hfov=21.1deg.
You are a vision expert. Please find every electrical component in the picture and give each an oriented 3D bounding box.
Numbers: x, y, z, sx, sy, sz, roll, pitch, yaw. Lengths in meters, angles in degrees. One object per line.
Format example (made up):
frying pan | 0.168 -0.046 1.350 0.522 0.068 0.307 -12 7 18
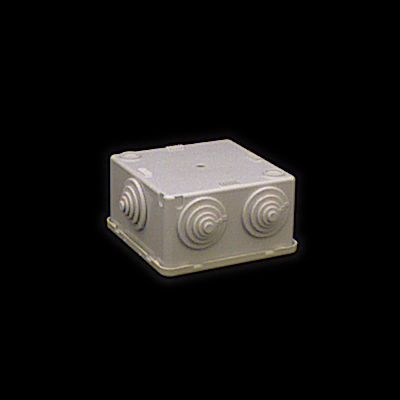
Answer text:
electrical component | 0.000 0.000 0.640 0.100 0.049 0.098 -9 23 -25
